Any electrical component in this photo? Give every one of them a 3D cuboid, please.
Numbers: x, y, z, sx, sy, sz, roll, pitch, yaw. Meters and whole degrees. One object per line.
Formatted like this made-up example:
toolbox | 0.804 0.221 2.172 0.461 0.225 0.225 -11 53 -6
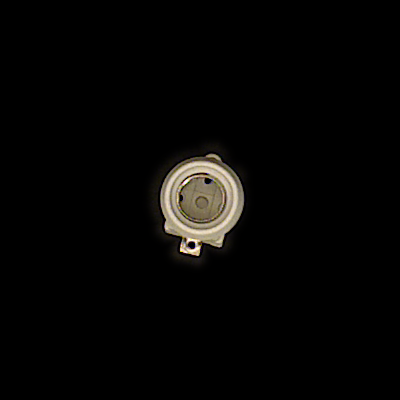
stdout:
electrical component | 0.000 0.000 0.639 0.048 0.066 0.055 13 -6 4
